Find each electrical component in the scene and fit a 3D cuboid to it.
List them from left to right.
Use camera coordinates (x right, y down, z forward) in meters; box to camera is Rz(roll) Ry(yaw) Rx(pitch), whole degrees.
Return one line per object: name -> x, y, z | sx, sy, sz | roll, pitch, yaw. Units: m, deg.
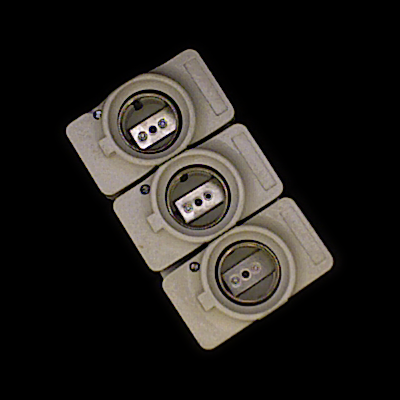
electrical component -> 0.000, 0.000, 0.631 | 0.089, 0.150, 0.061 | -33, -5, -3
